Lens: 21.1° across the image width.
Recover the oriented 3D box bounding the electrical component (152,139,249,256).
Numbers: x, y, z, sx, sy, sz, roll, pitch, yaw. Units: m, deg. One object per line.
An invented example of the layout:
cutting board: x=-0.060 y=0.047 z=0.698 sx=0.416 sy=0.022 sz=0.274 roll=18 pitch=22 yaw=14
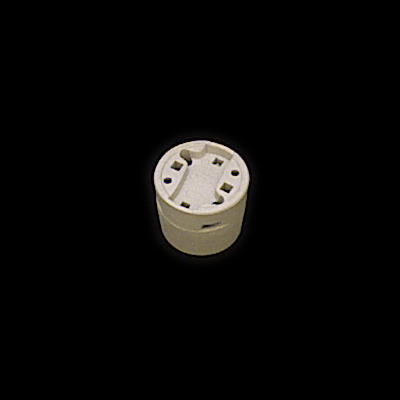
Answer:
electrical component: x=0.000 y=0.000 z=0.635 sx=0.055 sy=0.055 sz=0.047 roll=0 pitch=-37 yaw=0
